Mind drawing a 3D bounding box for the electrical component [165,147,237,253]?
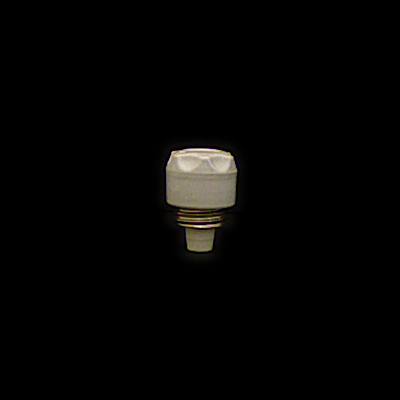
[{"bbox_3d":[0.000,0.000,0.652,0.043,0.062,0.043,2,11,0],"label":"electrical component"}]
